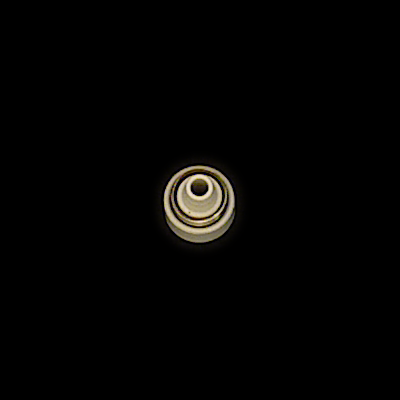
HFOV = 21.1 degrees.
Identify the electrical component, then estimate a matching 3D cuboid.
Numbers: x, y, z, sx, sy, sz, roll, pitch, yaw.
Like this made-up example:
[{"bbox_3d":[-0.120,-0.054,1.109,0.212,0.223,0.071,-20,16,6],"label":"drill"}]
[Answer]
[{"bbox_3d":[0.000,0.000,0.633,0.043,0.043,0.061,0,-15,0],"label":"electrical component"}]
